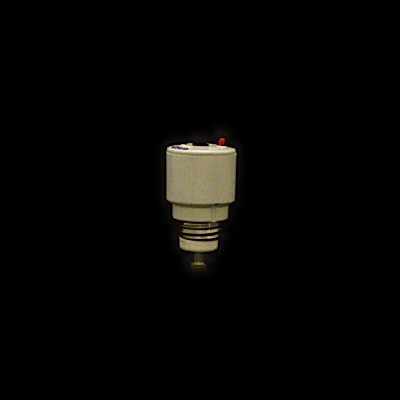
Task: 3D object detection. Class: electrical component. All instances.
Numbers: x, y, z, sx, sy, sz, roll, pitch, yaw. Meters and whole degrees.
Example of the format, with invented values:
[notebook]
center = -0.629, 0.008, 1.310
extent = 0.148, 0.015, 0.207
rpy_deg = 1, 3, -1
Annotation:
[electrical component]
center = 0.000, 0.000, 0.643
extent = 0.040, 0.079, 0.040
rpy_deg = 2, 11, 0
